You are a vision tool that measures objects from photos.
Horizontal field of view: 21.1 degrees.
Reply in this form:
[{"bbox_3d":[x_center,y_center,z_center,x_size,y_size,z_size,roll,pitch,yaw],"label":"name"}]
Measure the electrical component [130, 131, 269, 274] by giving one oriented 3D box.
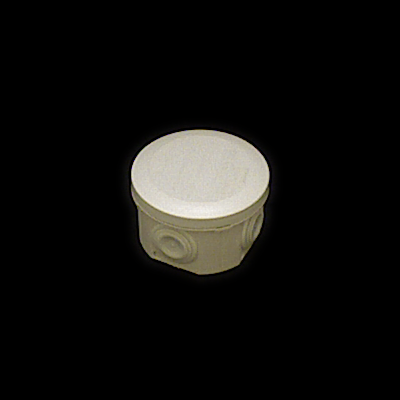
[{"bbox_3d":[0.000,0.000,0.631,0.080,0.051,0.080,0,42,0],"label":"electrical component"}]
